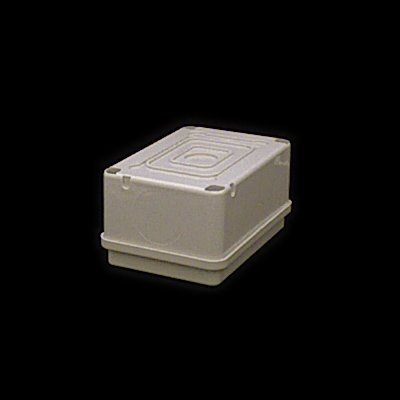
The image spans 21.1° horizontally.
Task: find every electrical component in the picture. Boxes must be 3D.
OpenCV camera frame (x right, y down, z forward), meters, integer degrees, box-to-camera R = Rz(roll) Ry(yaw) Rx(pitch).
[{"bbox_3d":[0.000,0.000,0.640,0.078,0.058,0.112,11,22,24],"label":"electrical component"}]
